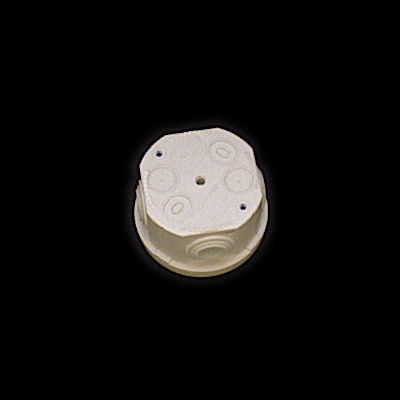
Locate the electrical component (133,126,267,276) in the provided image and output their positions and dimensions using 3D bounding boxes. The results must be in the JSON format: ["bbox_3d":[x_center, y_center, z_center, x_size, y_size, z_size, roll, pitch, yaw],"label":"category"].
[{"bbox_3d":[0.000,0.000,0.632,0.080,0.080,0.050,0,-28,1],"label":"electrical component"}]
